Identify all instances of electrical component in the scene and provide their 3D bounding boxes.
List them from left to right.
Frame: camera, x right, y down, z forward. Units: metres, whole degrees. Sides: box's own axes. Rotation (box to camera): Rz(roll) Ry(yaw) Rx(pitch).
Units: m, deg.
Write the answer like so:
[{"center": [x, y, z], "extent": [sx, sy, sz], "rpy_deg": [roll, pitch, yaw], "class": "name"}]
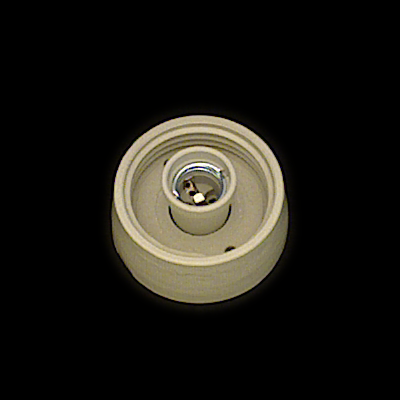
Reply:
[{"center": [0.000, 0.000, 0.633], "extent": [0.108, 0.108, 0.060], "rpy_deg": [0, -26, -1], "class": "electrical component"}]
